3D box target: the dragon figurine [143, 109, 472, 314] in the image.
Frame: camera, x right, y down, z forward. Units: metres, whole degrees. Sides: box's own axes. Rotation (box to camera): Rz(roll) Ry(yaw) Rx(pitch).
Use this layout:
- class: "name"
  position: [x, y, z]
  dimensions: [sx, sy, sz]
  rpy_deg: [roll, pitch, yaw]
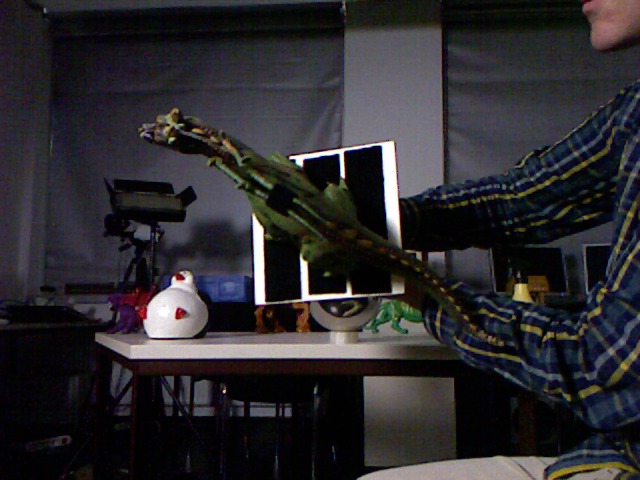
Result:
- class: "dragon figurine"
  position: [-0.013, -0.035, 0.562]
  dimensions: [0.414, 0.123, 0.242]
  rpy_deg: [28, -3, 16]
